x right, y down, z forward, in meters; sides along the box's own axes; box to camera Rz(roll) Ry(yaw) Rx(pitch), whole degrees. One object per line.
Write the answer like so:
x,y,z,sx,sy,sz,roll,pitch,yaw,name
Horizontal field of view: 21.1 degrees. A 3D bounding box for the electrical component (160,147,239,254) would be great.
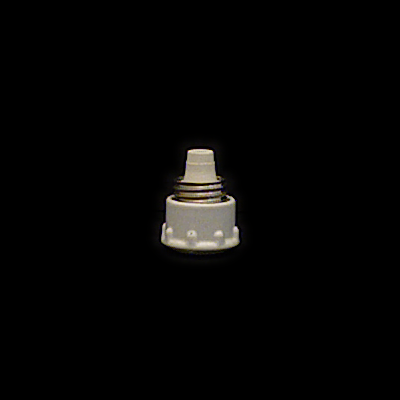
0.000,0.000,0.651,0.048,0.062,0.048,1,11,0,electrical component
